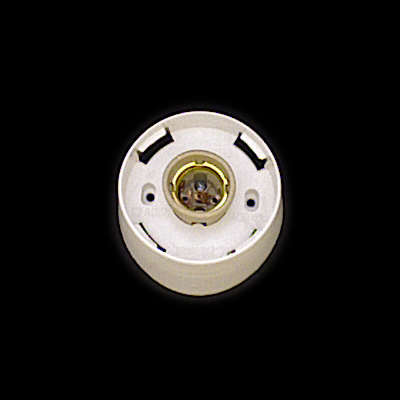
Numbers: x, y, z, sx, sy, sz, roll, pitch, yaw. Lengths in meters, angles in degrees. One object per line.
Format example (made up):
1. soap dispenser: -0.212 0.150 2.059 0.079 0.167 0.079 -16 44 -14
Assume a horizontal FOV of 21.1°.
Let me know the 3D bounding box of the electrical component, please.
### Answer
1. electrical component: 0.000 0.000 0.625 0.099 0.099 0.064 0 -16 0
